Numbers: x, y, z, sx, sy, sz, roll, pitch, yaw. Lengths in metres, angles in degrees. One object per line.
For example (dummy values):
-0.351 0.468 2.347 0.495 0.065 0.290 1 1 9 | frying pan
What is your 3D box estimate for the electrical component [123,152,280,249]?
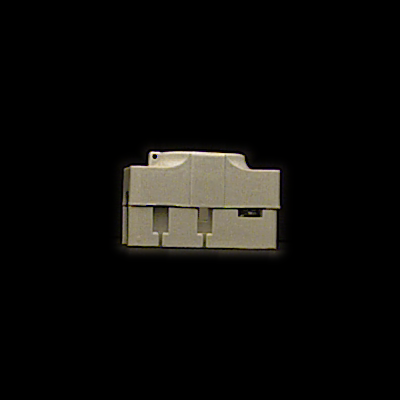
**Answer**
0.000 0.000 0.657 0.090 0.056 0.050 1 1 -11 | electrical component
